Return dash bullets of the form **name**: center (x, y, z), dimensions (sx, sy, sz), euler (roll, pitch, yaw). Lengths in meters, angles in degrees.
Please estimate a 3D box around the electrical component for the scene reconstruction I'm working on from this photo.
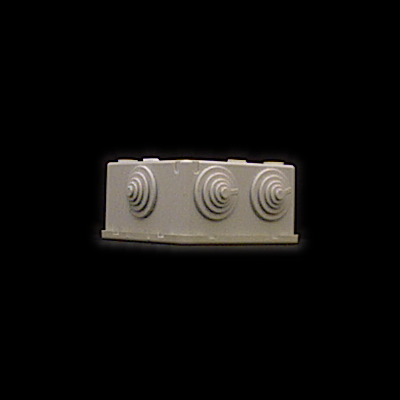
- **electrical component**: center (0.000, 0.000, 0.648), dimensions (0.100, 0.048, 0.099), euler (1, 0, -37)
